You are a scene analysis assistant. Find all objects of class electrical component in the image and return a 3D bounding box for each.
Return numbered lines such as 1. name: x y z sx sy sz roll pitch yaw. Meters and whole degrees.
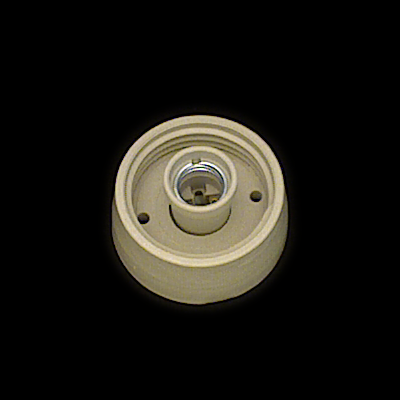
1. electrical component: 0.000 0.000 0.633 0.108 0.108 0.060 0 -27 -1
